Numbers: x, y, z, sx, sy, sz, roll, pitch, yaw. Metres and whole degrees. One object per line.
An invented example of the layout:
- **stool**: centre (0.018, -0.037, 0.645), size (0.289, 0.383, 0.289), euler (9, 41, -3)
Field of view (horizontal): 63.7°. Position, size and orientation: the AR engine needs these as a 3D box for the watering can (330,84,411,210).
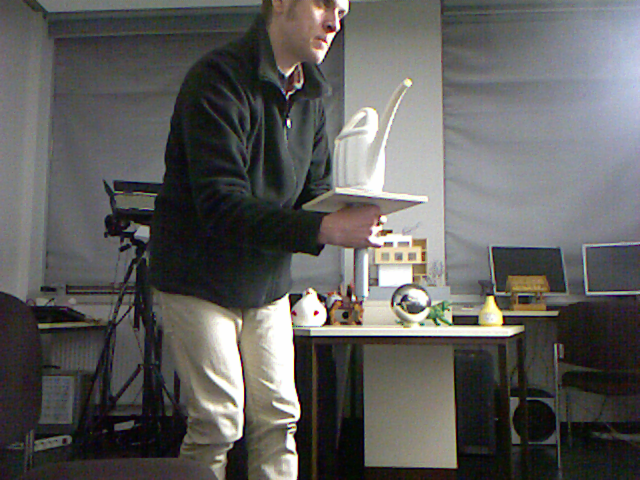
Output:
- **watering can**: centre (0.096, -0.175, 1.082), size (0.104, 0.226, 0.346), euler (0, -7, -21)
